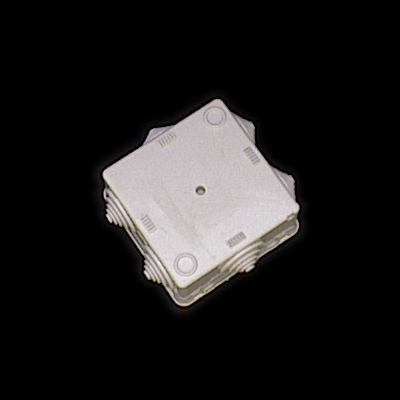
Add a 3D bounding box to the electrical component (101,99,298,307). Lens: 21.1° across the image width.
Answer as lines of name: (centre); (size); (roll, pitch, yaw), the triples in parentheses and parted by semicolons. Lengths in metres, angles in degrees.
electrical component: (0.000, 0.000, 0.631); (0.100, 0.100, 0.048); (-33, -14, -9)
